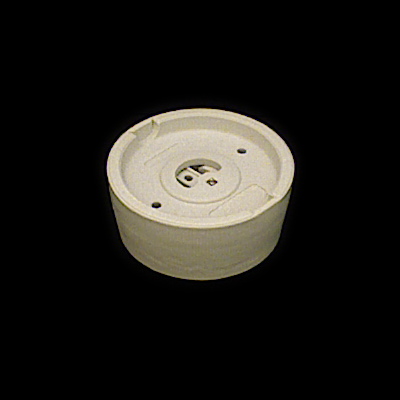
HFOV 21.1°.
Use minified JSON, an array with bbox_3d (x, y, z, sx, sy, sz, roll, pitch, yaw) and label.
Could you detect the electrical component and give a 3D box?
[{"bbox_3d":[0.000,0.000,0.637,0.108,0.061,0.107,0,42,0],"label":"electrical component"}]
